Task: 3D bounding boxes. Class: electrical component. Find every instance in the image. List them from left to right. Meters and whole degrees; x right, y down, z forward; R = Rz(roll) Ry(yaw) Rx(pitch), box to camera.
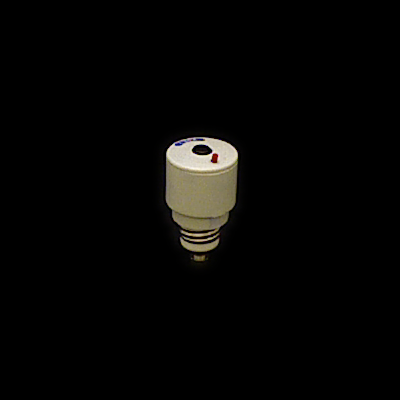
[{"bbox_3d":[0.000,0.000,0.627,0.040,0.079,0.039,1,31,0],"label":"electrical component"}]
